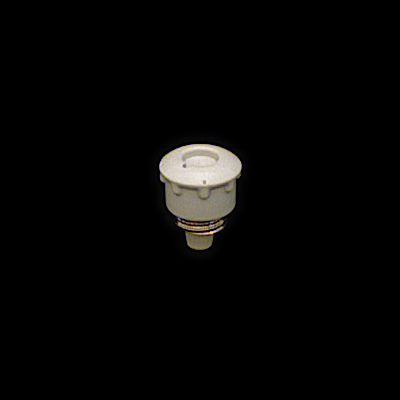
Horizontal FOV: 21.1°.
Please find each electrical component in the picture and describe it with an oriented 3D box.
[{"bbox_3d":[0.000,0.000,0.640,0.048,0.063,0.047,1,32,0],"label":"electrical component"}]
